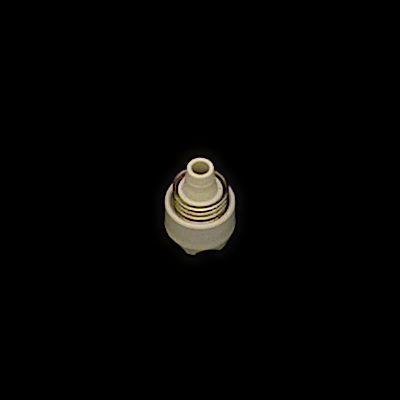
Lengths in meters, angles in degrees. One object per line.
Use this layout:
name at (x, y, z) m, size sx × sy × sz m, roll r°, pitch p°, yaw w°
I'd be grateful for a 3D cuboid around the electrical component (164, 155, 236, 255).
electrical component at (0.000, 0.000, 0.636) m, size 0.043 × 0.043 × 0.062 m, roll 0°, pitch -38°, yaw -1°
